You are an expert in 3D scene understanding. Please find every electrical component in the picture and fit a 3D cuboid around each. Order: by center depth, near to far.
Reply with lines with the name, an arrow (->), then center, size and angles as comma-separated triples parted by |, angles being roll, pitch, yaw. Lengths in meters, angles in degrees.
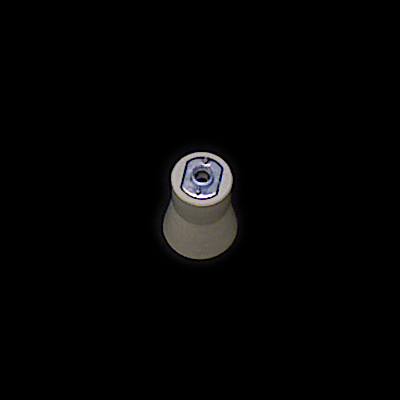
electrical component -> 0.000, 0.000, 0.624 | 0.044, 0.044, 0.065 | 0, -27, -1
